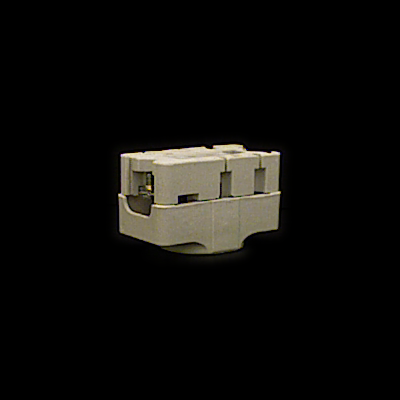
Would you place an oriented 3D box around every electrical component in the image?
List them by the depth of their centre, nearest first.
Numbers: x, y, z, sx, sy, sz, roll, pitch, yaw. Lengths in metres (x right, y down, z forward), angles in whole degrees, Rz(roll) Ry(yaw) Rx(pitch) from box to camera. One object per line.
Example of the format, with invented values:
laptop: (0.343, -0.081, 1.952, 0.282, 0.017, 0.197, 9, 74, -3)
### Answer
electrical component: (0.000, 0.000, 0.652, 0.090, 0.056, 0.049, -7, 14, -37)
